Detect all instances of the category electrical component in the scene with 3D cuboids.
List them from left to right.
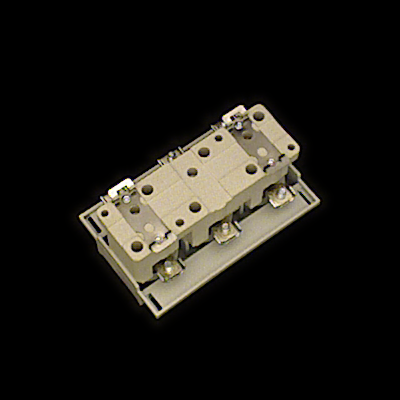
[{"bbox_3d":[0.000,0.000,0.633,0.122,0.078,0.063,-34,-21,-16],"label":"electrical component"}]
